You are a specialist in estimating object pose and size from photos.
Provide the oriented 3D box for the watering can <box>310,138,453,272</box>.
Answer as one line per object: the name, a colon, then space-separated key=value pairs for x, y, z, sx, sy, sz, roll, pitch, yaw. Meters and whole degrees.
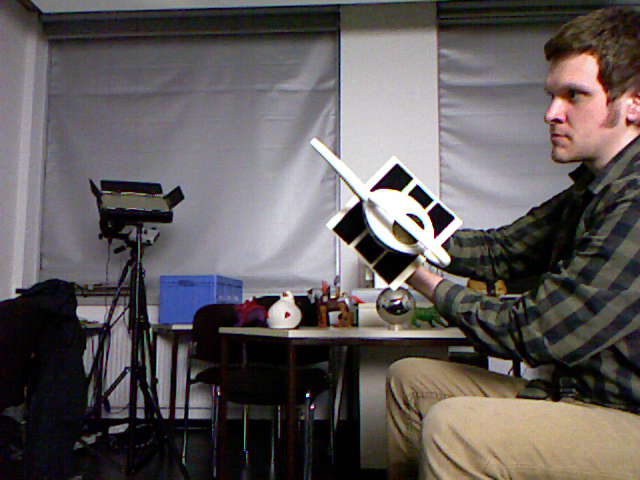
watering can: x=0.116 y=-0.065 z=1.008 sx=0.349 sy=0.105 sz=0.225 roll=43 pitch=-1 yaw=0
